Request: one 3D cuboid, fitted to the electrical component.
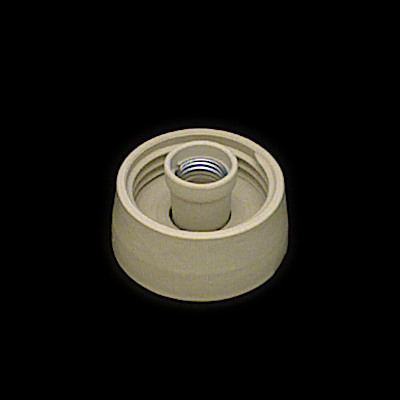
[{"bbox_3d":[0.000,0.000,0.638,0.108,0.061,0.107,1,42,0],"label":"electrical component"}]
